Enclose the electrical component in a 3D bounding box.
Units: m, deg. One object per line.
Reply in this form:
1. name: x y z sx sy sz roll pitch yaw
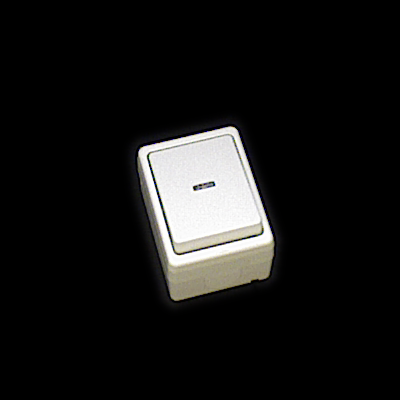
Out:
1. electrical component: 0.000 0.000 0.627 0.062 0.096 0.061 -14 -26 -7
